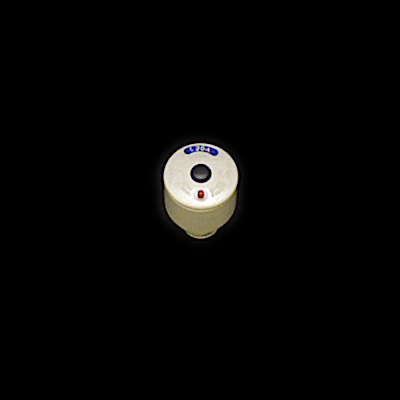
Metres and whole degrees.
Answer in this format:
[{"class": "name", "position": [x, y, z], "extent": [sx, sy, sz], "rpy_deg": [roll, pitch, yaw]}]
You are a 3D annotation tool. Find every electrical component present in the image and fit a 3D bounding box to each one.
[{"class": "electrical component", "position": [0.000, 0.000, 0.617], "extent": [0.040, 0.040, 0.078], "rpy_deg": [0, -27, 0]}]
